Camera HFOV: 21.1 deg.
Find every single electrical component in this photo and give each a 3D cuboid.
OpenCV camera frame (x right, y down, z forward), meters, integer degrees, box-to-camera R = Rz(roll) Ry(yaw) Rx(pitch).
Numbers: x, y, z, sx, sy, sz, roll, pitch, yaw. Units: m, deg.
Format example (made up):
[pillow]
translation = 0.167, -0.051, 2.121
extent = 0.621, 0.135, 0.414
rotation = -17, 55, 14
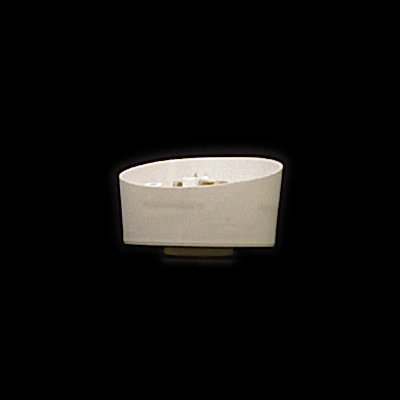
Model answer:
[electrical component]
translation = 0.000, 0.000, 0.651
extent = 0.099, 0.064, 0.099
rotation = 1, -1, 0
